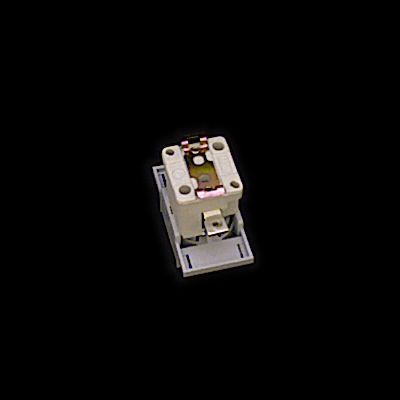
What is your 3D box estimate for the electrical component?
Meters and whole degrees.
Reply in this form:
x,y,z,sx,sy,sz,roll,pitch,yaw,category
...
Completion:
x,y,z,sx,sy,sz,roll,pitch,yaw,category
0.000,0.000,0.627,0.042,0.080,0.064,-12,-36,-9,electrical component
